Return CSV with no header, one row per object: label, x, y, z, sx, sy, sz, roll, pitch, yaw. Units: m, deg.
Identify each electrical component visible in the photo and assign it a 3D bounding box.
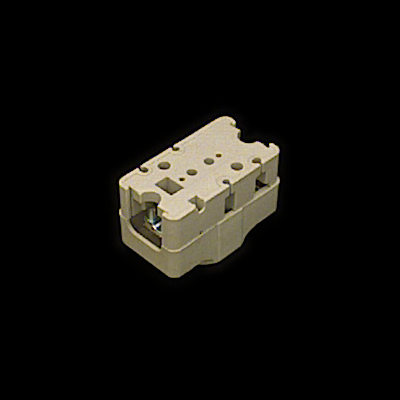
electrical component,0.000,0.000,0.639,0.090,0.056,0.049,-34,53,-31
